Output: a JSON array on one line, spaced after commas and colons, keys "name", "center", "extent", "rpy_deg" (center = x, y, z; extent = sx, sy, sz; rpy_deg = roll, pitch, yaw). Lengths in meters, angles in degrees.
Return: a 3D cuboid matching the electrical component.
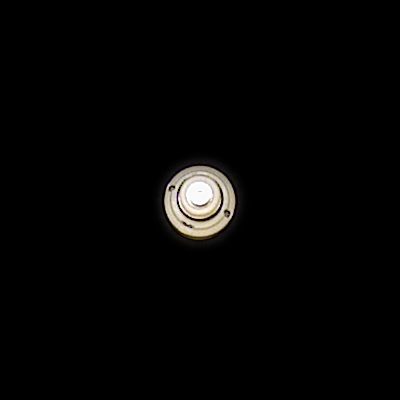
[{"name": "electrical component", "center": [0.000, 0.000, 0.618], "extent": [0.040, 0.040, 0.078], "rpy_deg": [0, -6, -1]}]
